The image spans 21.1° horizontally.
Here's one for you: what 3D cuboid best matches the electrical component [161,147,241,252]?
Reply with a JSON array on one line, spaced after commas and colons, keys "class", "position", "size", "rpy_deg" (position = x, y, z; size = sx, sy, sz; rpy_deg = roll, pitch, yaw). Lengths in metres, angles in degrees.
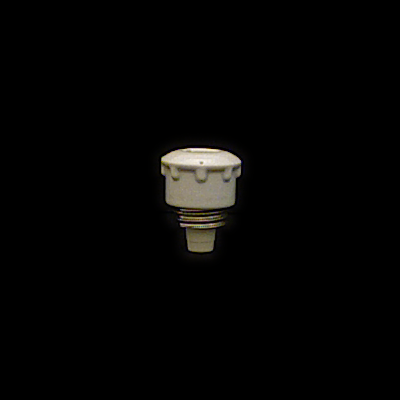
[{"class": "electrical component", "position": [0.000, 0.000, 0.649], "size": [0.048, 0.062, 0.048], "rpy_deg": [1, 11, 0]}]
